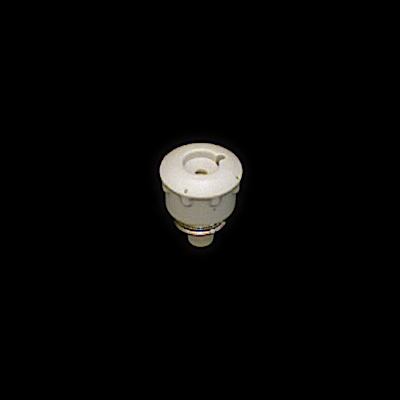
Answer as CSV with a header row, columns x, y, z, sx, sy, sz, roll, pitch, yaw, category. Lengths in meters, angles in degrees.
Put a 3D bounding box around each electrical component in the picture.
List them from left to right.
x,y,z,sx,sy,sz,roll,pitch,yaw,category
0.000,0.000,0.639,0.048,0.062,0.047,1,43,0,electrical component
